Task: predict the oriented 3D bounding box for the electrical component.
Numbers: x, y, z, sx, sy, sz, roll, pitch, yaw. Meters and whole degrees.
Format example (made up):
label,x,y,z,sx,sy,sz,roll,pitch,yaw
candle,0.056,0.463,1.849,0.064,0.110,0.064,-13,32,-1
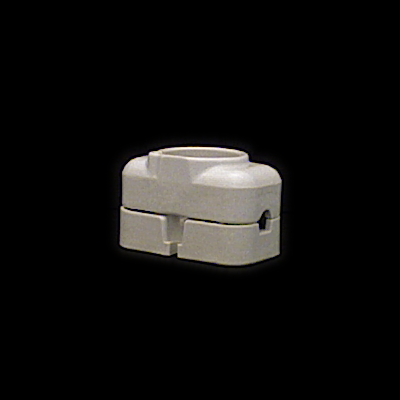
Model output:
label,x,y,z,sx,sy,sz,roll,pitch,yaw
electrical component,0.000,0.000,0.649,0.094,0.060,0.054,8,13,33
